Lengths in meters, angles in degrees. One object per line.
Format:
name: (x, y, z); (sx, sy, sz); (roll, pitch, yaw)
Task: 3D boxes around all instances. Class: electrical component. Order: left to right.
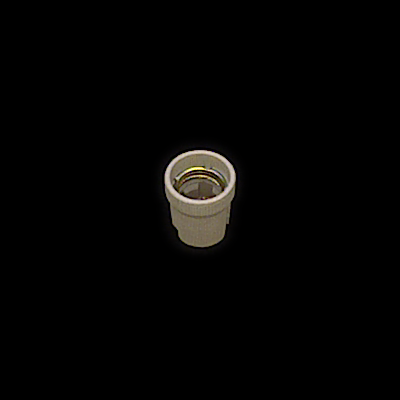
electrical component: (0.000, 0.000, 0.631); (0.040, 0.040, 0.047); (0, -38, -1)
